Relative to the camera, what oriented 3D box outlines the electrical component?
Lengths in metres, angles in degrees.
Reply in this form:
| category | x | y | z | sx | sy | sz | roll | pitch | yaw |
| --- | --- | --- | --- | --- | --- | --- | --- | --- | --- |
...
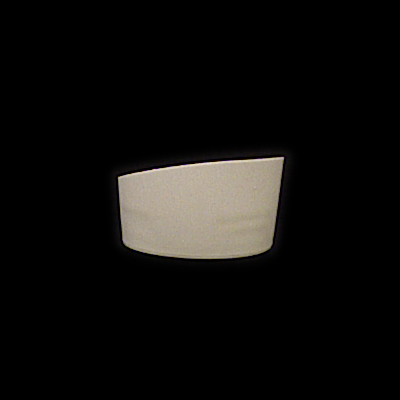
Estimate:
| category | x | y | z | sx | sy | sz | roll | pitch | yaw |
| --- | --- | --- | --- | --- | --- | --- | --- | --- | --- |
| electrical component | 0.000 | 0.000 | 0.643 | 0.099 | 0.064 | 0.098 | 2 | 11 | 0 |
